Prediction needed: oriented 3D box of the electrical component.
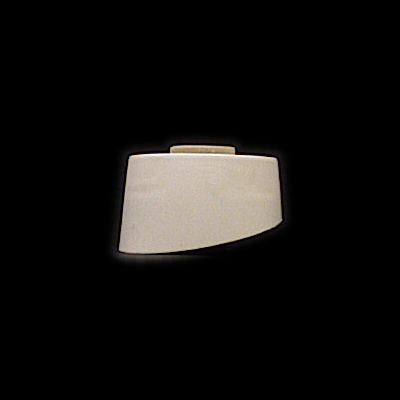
[{"bbox_3d":[0.000,0.000,0.650,0.099,0.064,0.099,1,0,0],"label":"electrical component"}]
